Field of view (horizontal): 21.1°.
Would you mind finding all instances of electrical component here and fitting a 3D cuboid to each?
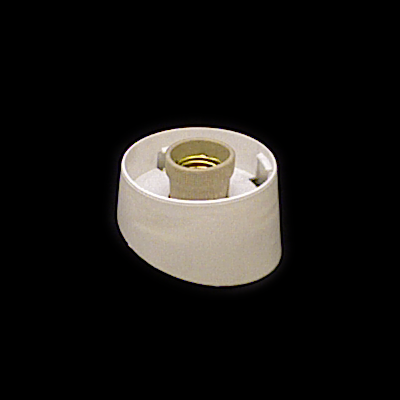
[{"bbox_3d":[0.000,0.000,0.633,0.099,0.065,0.097,1,31,0],"label":"electrical component"}]
